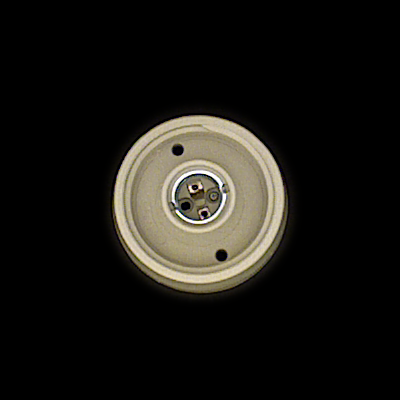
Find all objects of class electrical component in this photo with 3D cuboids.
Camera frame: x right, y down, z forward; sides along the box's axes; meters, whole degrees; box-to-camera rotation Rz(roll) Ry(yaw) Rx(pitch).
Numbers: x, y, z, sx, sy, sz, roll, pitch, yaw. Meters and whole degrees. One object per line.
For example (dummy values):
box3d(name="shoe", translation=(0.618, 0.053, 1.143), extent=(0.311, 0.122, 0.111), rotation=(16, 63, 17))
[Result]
box3d(name="electrical component", translation=(0.000, 0.000, 0.635), extent=(0.108, 0.108, 0.060), rotation=(0, -6, 0))
